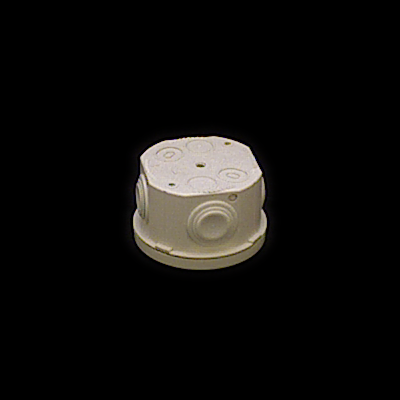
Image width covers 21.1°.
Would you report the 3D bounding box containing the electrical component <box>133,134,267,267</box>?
[{"bbox_3d":[0.000,0.000,0.636,0.080,0.051,0.079,1,32,0],"label":"electrical component"}]
